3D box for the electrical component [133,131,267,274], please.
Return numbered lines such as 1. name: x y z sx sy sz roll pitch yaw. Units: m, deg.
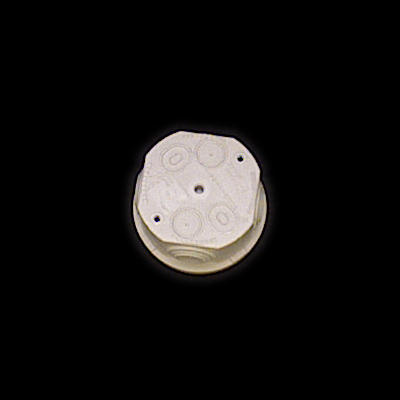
1. electrical component: 0.000 0.000 0.631 0.080 0.080 0.050 0 -17 0
